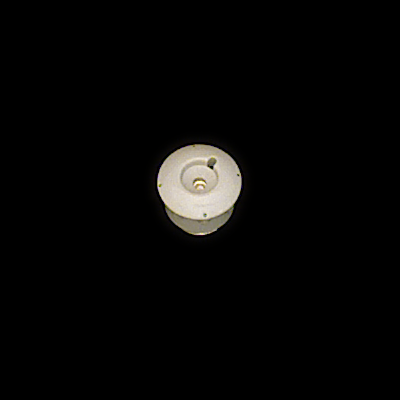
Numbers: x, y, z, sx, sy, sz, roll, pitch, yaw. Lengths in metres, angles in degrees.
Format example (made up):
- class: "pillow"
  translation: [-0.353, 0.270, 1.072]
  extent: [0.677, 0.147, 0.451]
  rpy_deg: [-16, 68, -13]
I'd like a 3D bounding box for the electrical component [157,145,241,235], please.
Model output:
- class: "electrical component"
  translation: [0.000, 0.000, 0.634]
  extent: [0.048, 0.048, 0.062]
  rpy_deg: [0, -27, 0]
